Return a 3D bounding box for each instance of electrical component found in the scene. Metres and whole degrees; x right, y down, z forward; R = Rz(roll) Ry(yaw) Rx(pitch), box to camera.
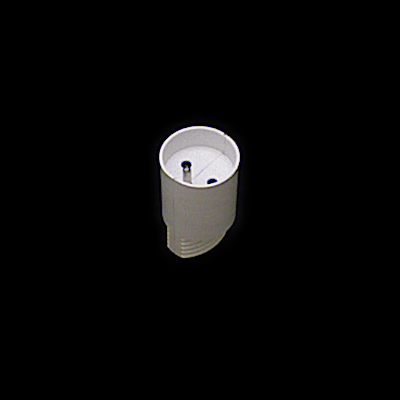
[{"bbox_3d":[0.000,0.000,0.617,0.043,0.043,0.081,0,-38,1],"label":"electrical component"}]
